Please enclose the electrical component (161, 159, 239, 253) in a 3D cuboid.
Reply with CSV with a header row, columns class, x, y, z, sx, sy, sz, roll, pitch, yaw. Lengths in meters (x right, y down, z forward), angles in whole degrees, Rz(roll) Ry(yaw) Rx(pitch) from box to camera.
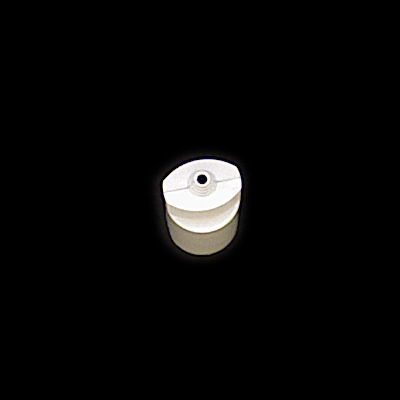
class,x,y,z,sx,sy,sz,roll,pitch,yaw
electrical component,0.000,0.000,0.616,0.043,0.043,0.080,0,-17,0
